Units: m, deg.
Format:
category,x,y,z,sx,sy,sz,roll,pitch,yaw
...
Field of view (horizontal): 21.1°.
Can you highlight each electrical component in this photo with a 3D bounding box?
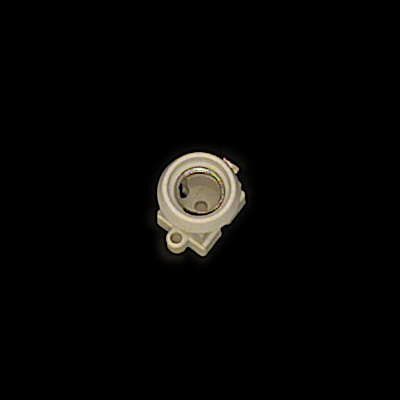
category,x,y,z,sx,sy,sz,roll,pitch,yaw
electrical component,0.000,0.000,0.637,0.048,0.067,0.055,35,-13,8
